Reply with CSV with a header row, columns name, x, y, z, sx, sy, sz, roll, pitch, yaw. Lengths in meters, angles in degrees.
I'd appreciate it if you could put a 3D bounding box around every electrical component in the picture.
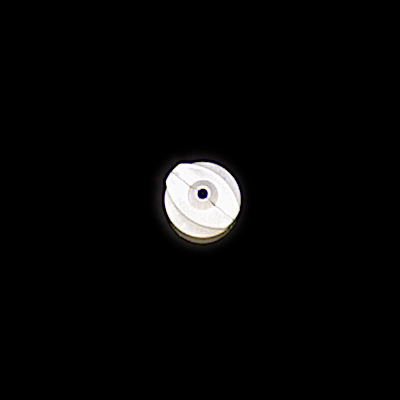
name,x,y,z,sx,sy,sz,roll,pitch,yaw
electrical component,0.000,0.000,0.616,0.043,0.043,0.080,0,-6,1
